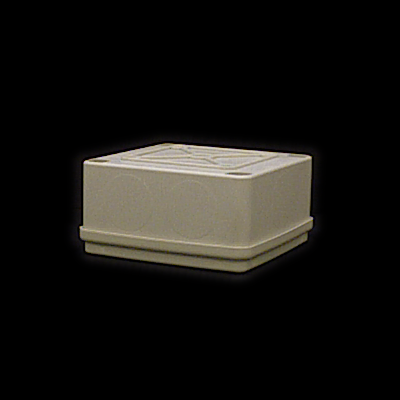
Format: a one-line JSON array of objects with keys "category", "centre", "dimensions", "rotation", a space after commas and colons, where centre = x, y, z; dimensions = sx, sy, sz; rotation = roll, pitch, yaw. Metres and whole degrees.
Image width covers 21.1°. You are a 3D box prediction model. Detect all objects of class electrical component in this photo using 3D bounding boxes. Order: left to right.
[{"category": "electrical component", "centre": [0.000, 0.000, 0.643], "dimensions": [0.108, 0.056, 0.108], "rotation": [6, 12, 25]}]
